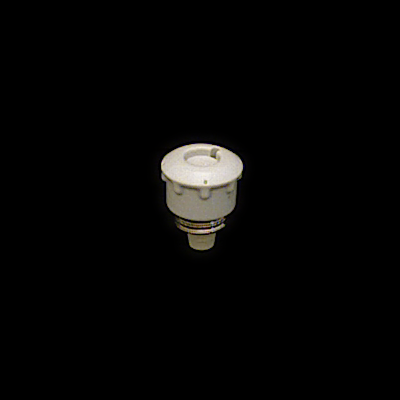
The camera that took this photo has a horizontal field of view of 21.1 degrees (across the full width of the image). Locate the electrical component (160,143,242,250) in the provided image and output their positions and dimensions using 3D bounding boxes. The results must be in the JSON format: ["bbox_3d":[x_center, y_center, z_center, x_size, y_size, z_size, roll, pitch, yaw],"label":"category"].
[{"bbox_3d":[0.000,0.000,0.642,0.048,0.063,0.047,1,32,0],"label":"electrical component"}]
